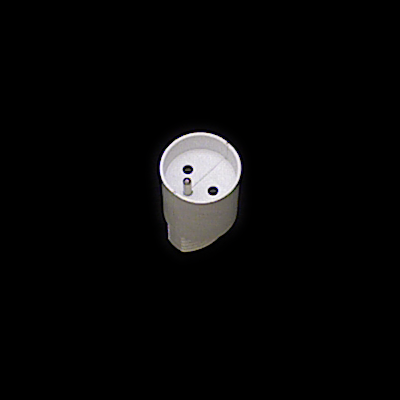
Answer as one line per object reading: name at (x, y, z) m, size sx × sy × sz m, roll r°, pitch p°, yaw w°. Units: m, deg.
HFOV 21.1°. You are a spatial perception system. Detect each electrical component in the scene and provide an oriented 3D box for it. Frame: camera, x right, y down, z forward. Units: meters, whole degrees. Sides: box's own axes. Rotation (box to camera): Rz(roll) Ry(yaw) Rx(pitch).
electrical component at (0.000, 0.000, 0.615) m, size 0.043 × 0.043 × 0.081 m, roll 0°, pitch -27°, yaw 1°
